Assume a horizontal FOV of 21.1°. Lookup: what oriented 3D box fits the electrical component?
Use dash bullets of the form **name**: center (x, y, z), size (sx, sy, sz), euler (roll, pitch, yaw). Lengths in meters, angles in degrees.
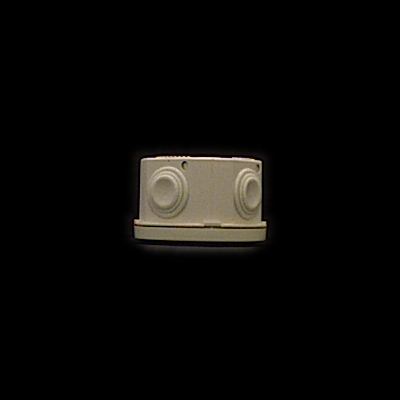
- **electrical component**: center (0.000, 0.000, 0.650), size (0.080, 0.051, 0.080), euler (1, 1, 0)
